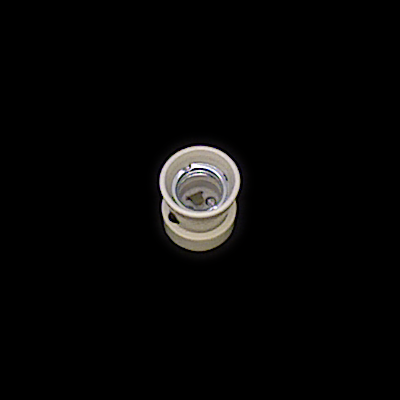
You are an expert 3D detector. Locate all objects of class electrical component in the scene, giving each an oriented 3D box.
[{"bbox_3d":[0.000,0.000,0.628,0.045,0.045,0.055,0,-26,0],"label":"electrical component"}]
